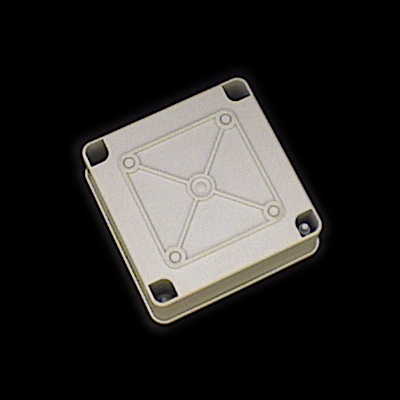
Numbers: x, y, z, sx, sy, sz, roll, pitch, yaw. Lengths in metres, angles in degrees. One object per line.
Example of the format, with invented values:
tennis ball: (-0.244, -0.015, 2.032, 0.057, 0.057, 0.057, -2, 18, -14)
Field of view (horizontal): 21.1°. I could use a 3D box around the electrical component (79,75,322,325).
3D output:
electrical component: (0.000, 0.000, 0.628, 0.109, 0.109, 0.056, -25, -15, -8)
